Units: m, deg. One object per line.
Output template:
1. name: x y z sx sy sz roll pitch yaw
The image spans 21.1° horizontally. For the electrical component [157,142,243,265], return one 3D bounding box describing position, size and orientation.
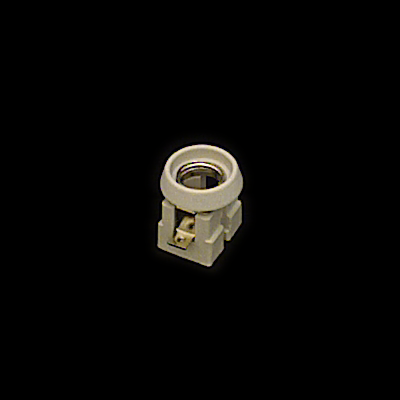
1. electrical component: 0.000 0.000 0.639 0.048 0.056 0.066 17 45 19
